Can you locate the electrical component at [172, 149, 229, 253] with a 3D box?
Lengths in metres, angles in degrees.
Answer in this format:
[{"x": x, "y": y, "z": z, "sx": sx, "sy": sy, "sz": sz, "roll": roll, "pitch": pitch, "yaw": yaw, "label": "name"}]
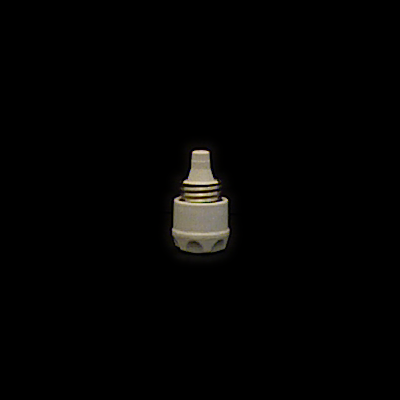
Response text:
[{"x": 0.000, "y": 0.000, "z": 0.655, "sx": 0.035, "sy": 0.062, "sz": 0.035, "roll": 0, "pitch": 11, "yaw": 0, "label": "electrical component"}]
